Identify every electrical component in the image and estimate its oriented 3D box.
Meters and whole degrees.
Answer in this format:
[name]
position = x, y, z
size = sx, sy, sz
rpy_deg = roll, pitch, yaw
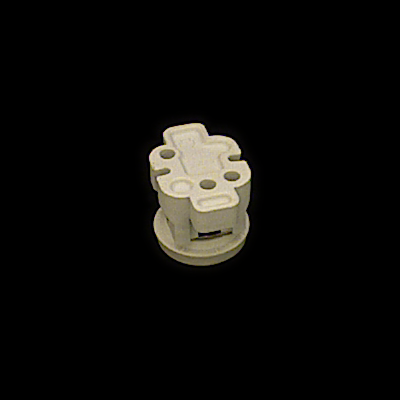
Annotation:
[electrical component]
position = 0.000, 0.000, 0.640
size = 0.058, 0.057, 0.077
rpy_deg = -12, 43, -12
